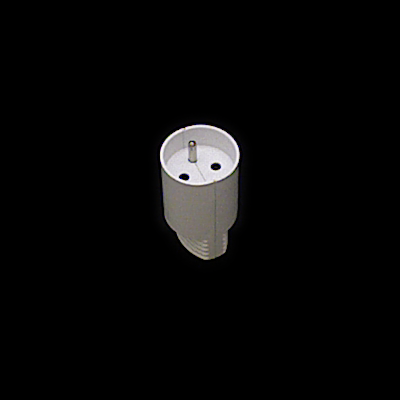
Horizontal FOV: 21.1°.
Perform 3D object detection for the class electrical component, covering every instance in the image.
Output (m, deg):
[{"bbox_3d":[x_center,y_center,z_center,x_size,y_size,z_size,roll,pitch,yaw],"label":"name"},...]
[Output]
[{"bbox_3d":[0.000,0.000,0.619,0.043,0.043,0.081,0,-39,-1],"label":"electrical component"}]
